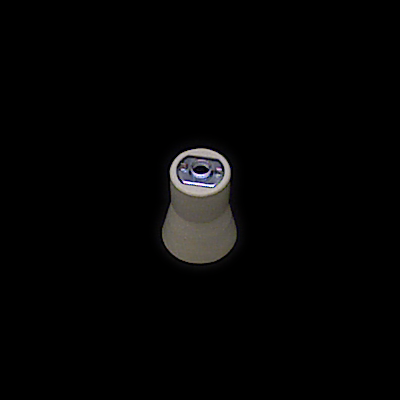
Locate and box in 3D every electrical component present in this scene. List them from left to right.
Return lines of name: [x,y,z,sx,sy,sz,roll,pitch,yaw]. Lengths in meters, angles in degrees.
electrical component: [0.000,0.000,0.626,0.044,0.044,0.065,0,-37,-1]
